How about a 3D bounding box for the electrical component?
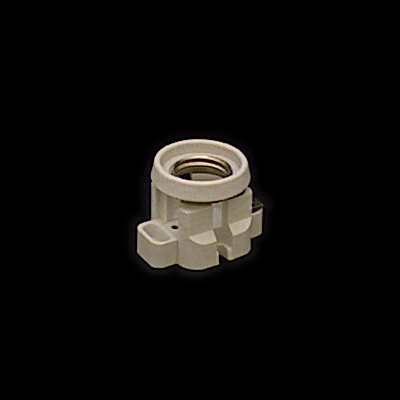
[{"bbox_3d":[0.000,0.000,0.637,0.078,0.057,0.057,-18,36,-28],"label":"electrical component"}]
